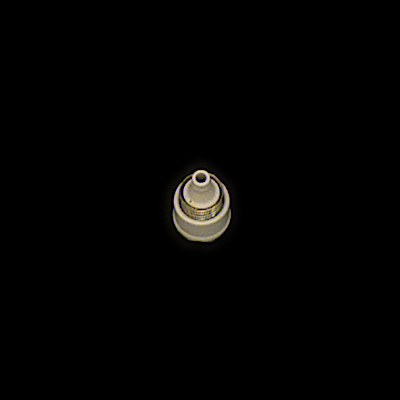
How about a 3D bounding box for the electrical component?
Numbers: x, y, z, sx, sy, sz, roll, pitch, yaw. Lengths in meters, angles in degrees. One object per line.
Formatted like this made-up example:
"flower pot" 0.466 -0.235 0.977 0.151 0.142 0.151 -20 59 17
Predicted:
"electrical component" 0.000 0.000 0.638 0.035 0.035 0.061 0 -25 1
